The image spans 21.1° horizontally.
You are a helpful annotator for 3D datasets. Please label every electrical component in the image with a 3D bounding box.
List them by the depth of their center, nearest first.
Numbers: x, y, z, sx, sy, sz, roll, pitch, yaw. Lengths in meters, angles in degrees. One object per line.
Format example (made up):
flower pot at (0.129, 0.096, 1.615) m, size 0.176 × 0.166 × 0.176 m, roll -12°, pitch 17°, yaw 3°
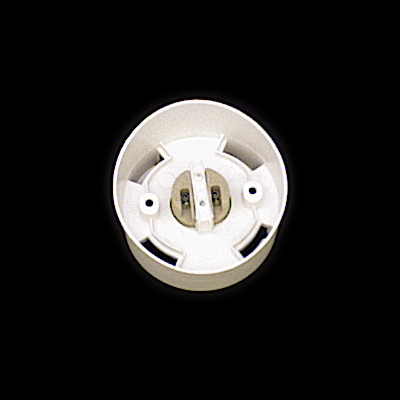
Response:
electrical component at (0.000, 0.000, 0.624) m, size 0.099 × 0.099 × 0.064 m, roll 0°, pitch -28°, yaw 0°
